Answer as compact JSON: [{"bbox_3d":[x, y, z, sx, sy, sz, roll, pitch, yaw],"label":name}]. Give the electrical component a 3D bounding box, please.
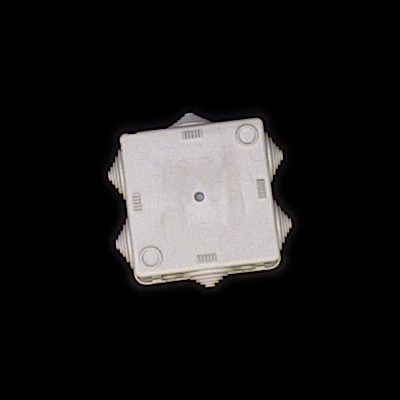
[{"bbox_3d":[0.000,0.000,0.633,0.100,0.100,0.048,-7,-7,-1],"label":"electrical component"}]
